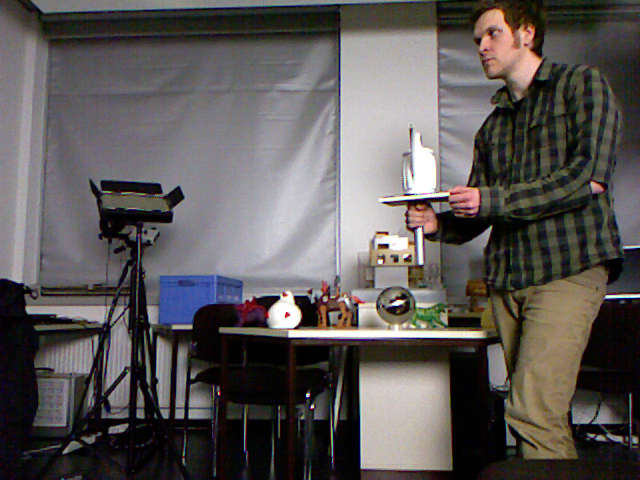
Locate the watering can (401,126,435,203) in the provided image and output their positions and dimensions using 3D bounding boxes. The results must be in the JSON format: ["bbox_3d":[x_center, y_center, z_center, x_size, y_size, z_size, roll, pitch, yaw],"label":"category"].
[{"bbox_3d":[0.295,-0.224,1.565,0.104,0.225,0.348,-4,0,14],"label":"watering can"}]
